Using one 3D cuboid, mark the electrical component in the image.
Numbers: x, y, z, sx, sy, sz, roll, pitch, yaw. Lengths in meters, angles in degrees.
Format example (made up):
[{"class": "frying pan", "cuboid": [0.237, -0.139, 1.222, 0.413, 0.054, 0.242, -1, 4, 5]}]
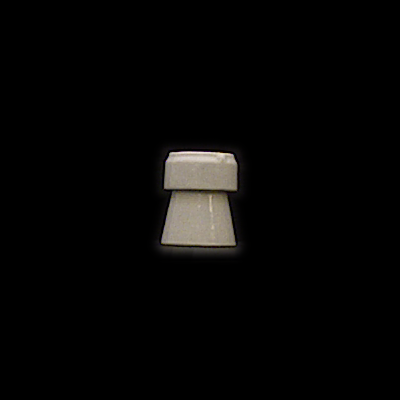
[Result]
[{"class": "electrical component", "cuboid": [0.000, 0.000, 0.651, 0.045, 0.055, 0.045, 2, 1, 0]}]
